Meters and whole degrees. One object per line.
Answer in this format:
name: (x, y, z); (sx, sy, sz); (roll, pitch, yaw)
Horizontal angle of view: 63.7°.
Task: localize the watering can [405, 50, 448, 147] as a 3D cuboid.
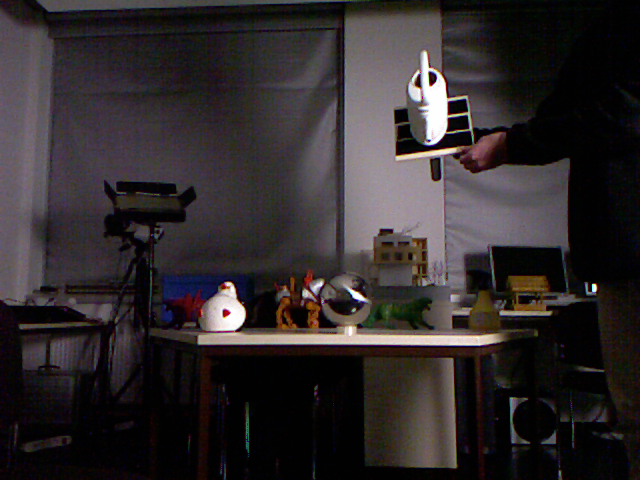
watering can: (0.275, -0.326, 1.326); (0.104, 0.356, 0.220); (-4, -34, 15)
